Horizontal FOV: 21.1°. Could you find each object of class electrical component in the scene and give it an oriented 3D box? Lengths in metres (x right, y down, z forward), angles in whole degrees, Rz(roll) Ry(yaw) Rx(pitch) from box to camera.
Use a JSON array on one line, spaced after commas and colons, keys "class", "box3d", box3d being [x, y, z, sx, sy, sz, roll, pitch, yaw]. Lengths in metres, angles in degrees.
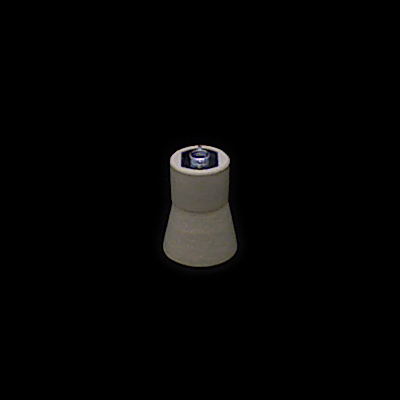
[{"class": "electrical component", "box3d": [0.000, 0.000, 0.633, 0.044, 0.066, 0.044, 0, 32, 0]}]
